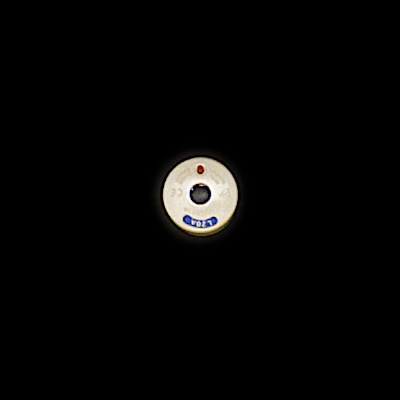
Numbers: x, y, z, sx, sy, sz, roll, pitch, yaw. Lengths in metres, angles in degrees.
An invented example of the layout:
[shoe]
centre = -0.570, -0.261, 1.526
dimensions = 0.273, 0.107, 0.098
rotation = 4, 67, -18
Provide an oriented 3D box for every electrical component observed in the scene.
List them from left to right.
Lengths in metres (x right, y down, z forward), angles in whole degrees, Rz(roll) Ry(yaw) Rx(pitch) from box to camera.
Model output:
[electrical component]
centre = 0.000, 0.000, 0.618
dimensions = 0.040, 0.040, 0.078
rotation = 0, -7, 1
